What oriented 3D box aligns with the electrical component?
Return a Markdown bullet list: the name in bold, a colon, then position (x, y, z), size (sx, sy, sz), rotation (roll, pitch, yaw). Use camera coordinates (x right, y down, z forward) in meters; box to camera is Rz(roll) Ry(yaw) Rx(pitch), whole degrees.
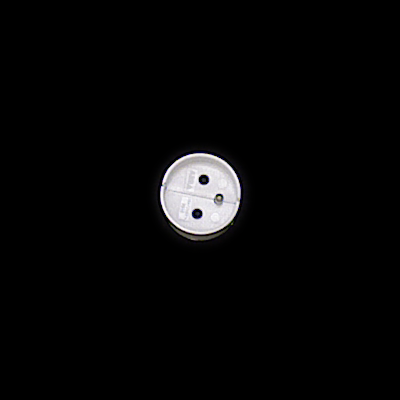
- **electrical component**: position (0.000, 0.000, 0.616), size (0.043, 0.043, 0.080), rotation (0, -6, 0)
